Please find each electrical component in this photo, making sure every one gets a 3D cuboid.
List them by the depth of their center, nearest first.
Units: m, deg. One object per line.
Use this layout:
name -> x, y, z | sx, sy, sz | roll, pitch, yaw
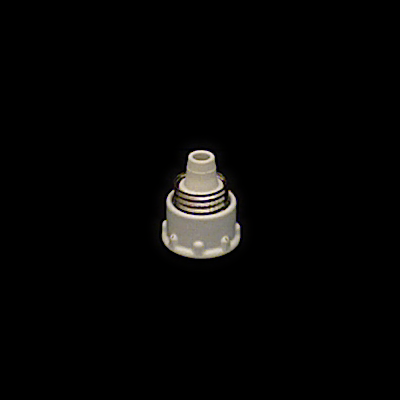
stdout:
electrical component -> 0.000, 0.000, 0.642 | 0.048, 0.063, 0.047 | 1, 31, 0
